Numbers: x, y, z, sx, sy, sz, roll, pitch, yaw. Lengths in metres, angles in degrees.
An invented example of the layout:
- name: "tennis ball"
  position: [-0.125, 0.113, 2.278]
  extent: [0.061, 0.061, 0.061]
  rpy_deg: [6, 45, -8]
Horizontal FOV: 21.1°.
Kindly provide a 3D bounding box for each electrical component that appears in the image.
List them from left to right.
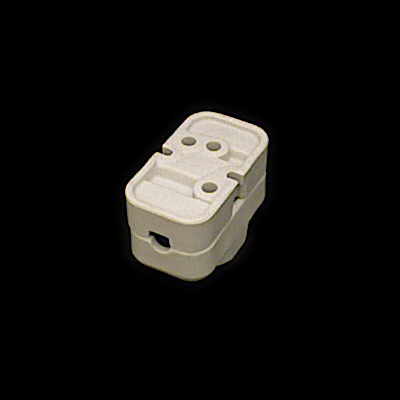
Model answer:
- name: "electrical component"
  position: [0.000, 0.000, 0.638]
  extent: [0.053, 0.060, 0.095]
  rpy_deg: [20, 46, 20]
